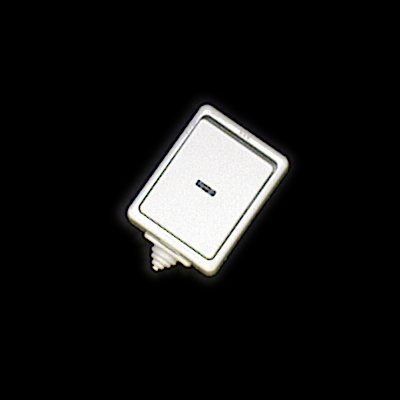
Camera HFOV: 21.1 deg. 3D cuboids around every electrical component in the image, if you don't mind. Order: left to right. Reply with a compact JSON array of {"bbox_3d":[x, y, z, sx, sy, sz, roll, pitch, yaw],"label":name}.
[{"bbox_3d":[0.000,0.000,0.626,0.062,0.096,0.061,35,-5,4],"label":"electrical component"}]
